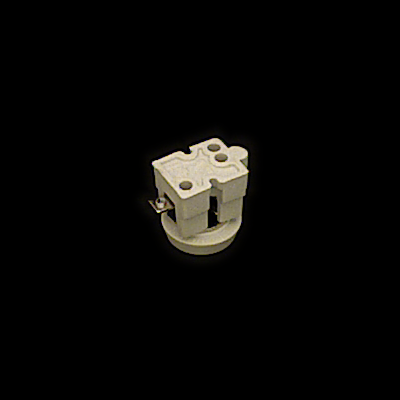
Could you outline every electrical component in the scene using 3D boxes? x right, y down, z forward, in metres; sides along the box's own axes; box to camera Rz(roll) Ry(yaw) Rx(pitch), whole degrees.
[{"bbox_3d":[0.000,0.000,0.641,0.067,0.056,0.048,-22,48,-21],"label":"electrical component"}]
